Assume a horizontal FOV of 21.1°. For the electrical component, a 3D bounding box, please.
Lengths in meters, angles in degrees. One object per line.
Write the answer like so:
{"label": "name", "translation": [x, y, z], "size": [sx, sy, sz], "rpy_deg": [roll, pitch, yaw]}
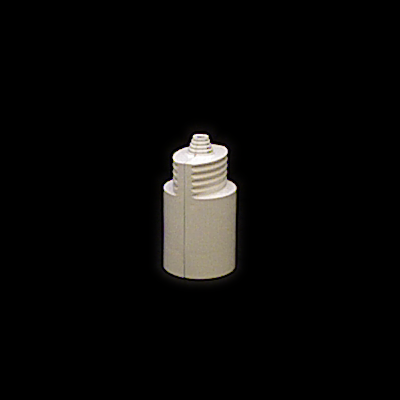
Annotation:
{"label": "electrical component", "translation": [0.000, 0.000, 0.636], "size": [0.043, 0.082, 0.042], "rpy_deg": [1, 21, 0]}
